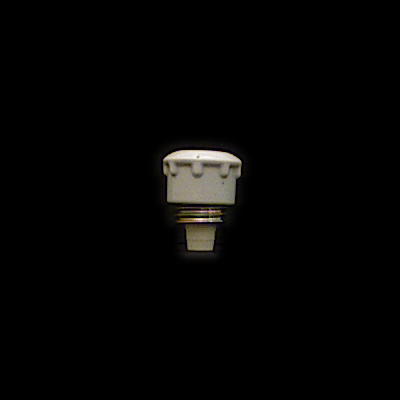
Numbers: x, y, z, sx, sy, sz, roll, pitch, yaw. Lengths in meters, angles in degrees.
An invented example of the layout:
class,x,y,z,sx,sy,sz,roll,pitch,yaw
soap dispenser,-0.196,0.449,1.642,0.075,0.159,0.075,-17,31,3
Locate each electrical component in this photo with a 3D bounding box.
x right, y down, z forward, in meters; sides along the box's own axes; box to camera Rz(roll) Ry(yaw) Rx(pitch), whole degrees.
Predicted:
class,x,y,z,sx,sy,sz,roll,pitch,yaw
electrical component,0.000,0.000,0.659,0.048,0.062,0.048,2,2,1
